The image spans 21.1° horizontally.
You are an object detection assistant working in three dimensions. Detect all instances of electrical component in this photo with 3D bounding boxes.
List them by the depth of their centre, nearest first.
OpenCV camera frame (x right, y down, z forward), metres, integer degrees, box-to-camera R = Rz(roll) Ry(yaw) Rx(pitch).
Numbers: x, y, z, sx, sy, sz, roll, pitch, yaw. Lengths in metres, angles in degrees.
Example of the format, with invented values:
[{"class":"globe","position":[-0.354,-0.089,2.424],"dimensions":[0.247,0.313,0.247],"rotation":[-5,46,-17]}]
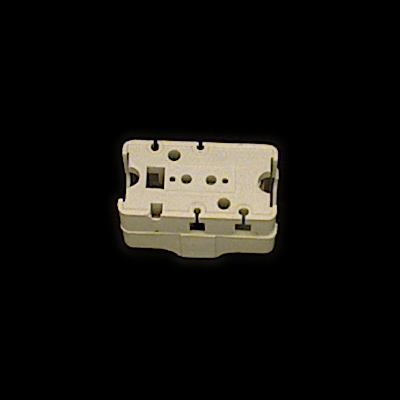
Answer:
[{"class":"electrical component","position":[0.000,0.000,0.636],"dimensions":[0.089,0.050,0.055],"rotation":[2,-26,1]}]
